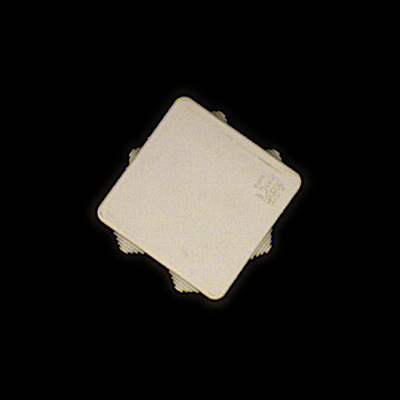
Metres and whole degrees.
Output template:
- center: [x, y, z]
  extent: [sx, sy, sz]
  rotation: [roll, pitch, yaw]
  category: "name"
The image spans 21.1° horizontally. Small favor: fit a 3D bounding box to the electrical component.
- center: [0.000, 0.000, 0.642]
  extent: [0.100, 0.100, 0.048]
  rotation: [35, -5, 3]
  category: "electrical component"
